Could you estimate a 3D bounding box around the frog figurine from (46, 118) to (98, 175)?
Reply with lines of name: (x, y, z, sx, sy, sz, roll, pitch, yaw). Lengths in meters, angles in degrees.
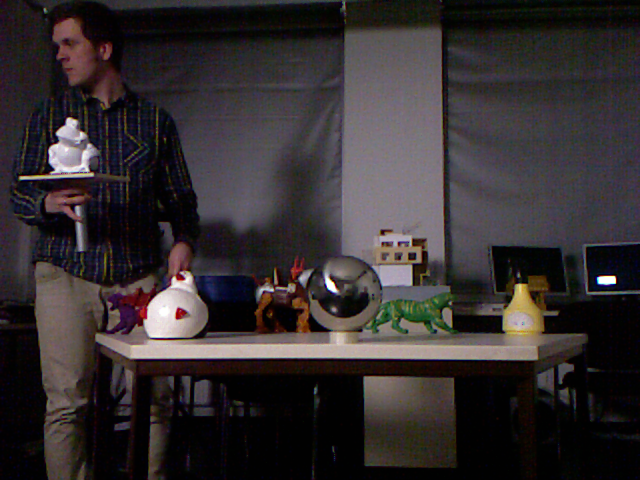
frog figurine: (-0.692, -0.255, 1.431, 0.137, 0.159, 0.123, -1, 6, 13)
